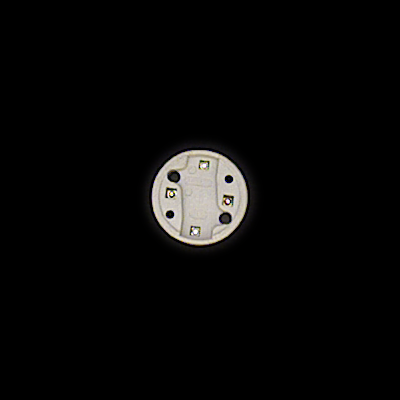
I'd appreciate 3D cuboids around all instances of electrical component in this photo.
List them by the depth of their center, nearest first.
[{"bbox_3d":[0.000,0.000,0.636,0.055,0.055,0.047,0,-6,0],"label":"electrical component"}]
